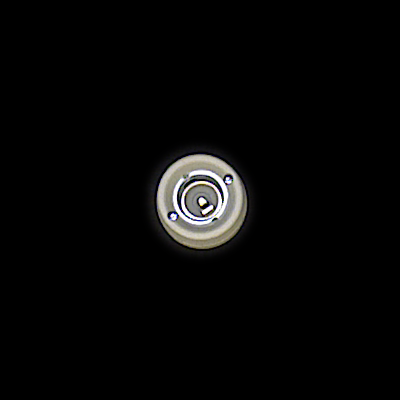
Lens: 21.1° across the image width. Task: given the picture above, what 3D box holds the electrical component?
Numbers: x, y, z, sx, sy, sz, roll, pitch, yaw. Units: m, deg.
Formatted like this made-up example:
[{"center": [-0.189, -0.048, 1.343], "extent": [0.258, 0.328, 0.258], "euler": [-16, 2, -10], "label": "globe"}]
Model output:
[{"center": [0.000, 0.000, 0.633], "extent": [0.055, 0.055, 0.047], "euler": [0, -6, 2], "label": "electrical component"}]
